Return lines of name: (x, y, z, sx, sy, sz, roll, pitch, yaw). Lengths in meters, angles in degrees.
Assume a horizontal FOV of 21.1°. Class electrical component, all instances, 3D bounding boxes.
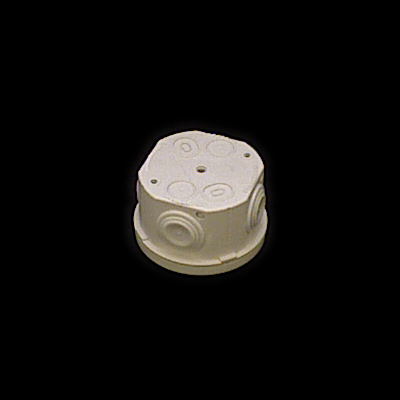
electrical component: (0.000, 0.000, 0.635, 0.080, 0.051, 0.079, 1, 42, -1)
